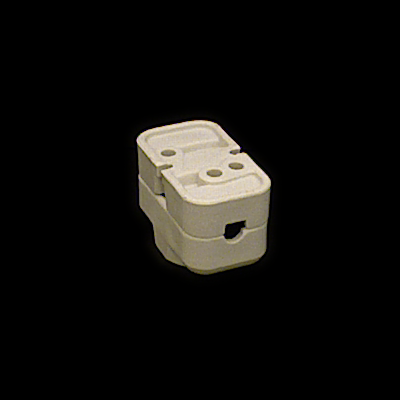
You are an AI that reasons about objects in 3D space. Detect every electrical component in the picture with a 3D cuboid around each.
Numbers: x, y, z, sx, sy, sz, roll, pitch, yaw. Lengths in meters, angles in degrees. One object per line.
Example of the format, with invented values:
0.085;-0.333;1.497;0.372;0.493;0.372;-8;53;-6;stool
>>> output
0.000;0.000;0.643;0.054;0.060;0.093;-13;34;-20;electrical component
